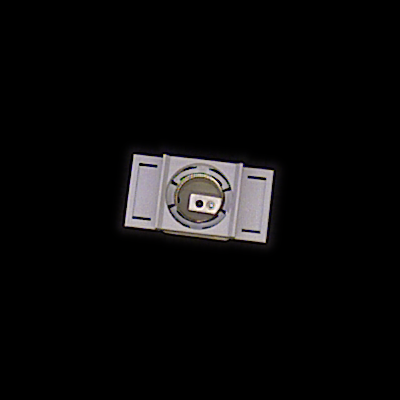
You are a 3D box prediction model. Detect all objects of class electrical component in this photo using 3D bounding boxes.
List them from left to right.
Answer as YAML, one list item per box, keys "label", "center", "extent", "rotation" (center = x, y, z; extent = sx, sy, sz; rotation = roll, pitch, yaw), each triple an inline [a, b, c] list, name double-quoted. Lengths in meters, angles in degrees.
- label: "electrical component"
  center: [0.000, 0.000, 0.625]
  extent: [0.081, 0.042, 0.063]
  rotation: [7, -7, 1]
